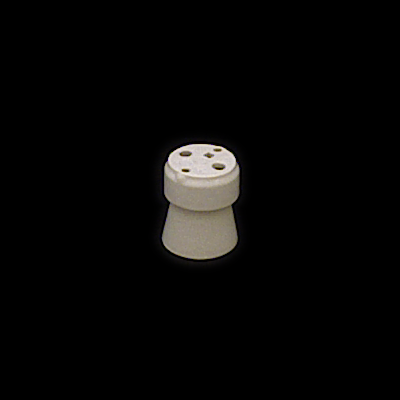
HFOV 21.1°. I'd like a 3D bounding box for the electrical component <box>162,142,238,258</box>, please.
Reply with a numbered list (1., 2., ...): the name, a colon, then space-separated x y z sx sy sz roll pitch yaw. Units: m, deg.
1. electrical component: 0.000 0.000 0.635 0.045 0.056 0.044 1 33 0
